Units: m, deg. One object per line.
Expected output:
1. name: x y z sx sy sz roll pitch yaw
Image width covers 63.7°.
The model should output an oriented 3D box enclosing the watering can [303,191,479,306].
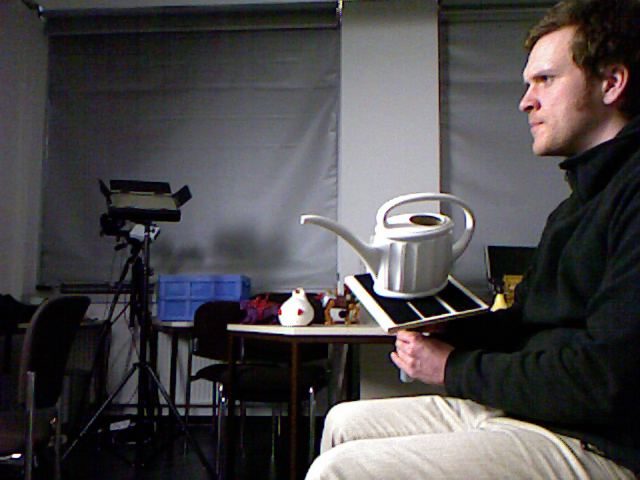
1. watering can: 0.135 0.019 0.961 0.349 0.220 0.106 -7 26 -15
